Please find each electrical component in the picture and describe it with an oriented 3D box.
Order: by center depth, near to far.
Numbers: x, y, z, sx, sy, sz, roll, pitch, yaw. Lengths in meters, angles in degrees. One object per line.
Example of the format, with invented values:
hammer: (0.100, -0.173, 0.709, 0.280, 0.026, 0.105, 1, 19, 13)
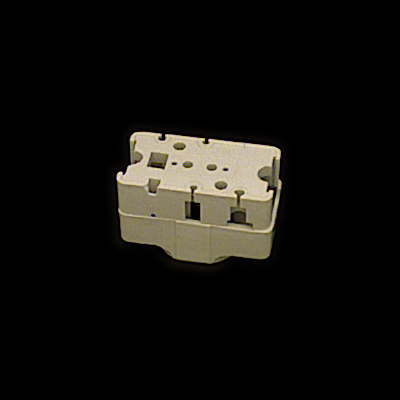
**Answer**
electrical component: (0.000, 0.000, 0.639, 0.089, 0.056, 0.050, 7, 44, 7)
